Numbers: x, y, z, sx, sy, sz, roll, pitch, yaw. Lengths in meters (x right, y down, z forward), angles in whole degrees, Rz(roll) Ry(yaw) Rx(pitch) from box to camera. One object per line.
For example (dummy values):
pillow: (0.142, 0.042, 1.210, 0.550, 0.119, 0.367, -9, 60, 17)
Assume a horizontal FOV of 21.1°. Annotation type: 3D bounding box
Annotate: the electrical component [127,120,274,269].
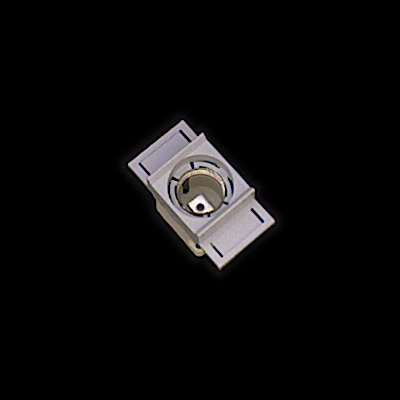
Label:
electrical component: (0.000, 0.000, 0.623, 0.042, 0.081, 0.063, -39, -14, -11)
